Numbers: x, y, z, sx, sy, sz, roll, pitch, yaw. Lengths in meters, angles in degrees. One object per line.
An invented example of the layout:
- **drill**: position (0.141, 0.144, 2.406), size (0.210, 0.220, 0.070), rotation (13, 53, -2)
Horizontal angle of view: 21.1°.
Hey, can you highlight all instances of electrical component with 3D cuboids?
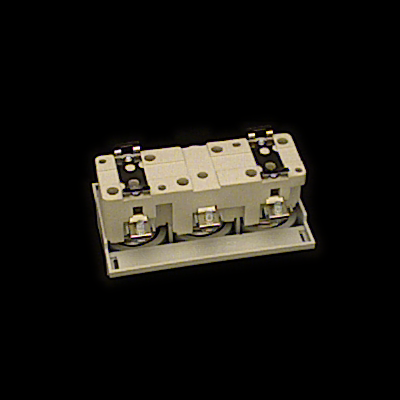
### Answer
- **electrical component**: position (0.000, 0.000, 0.640), size (0.122, 0.063, 0.077), rotation (-8, 42, -10)
